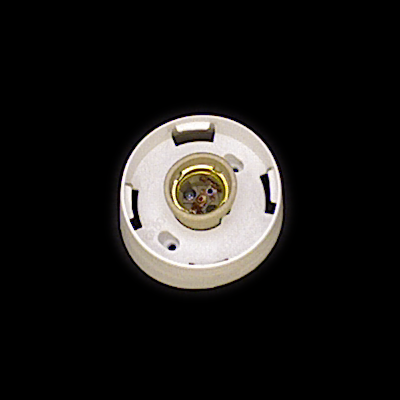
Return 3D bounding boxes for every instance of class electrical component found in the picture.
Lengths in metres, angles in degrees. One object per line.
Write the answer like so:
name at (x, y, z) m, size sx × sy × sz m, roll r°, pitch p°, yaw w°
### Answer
electrical component at (0.000, 0.000, 0.625) m, size 0.099 × 0.099 × 0.064 m, roll 0°, pitch -17°, yaw 0°
